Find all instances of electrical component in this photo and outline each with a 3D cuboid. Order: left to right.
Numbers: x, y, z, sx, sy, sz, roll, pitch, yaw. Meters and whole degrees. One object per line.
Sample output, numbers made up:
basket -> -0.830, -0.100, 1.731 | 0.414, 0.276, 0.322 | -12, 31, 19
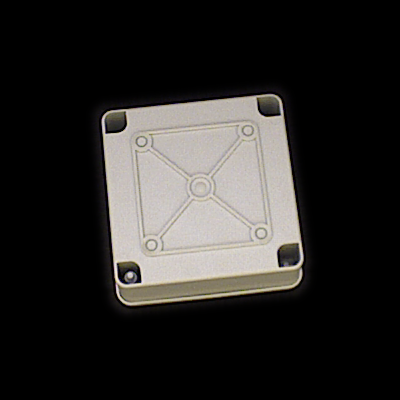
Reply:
electrical component -> 0.000, 0.000, 0.627 | 0.109, 0.109, 0.056 | -6, -17, -1
